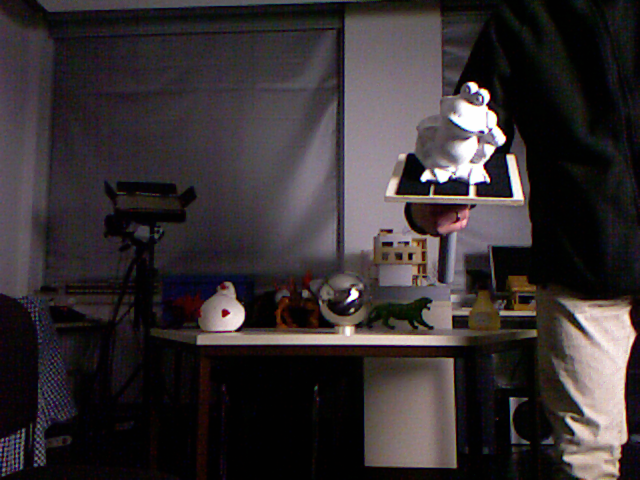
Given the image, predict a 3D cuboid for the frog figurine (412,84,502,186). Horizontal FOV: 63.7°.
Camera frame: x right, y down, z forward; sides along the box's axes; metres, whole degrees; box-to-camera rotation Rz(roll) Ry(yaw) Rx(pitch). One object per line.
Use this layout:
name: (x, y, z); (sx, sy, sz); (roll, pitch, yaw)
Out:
frog figurine: (0.219, -0.175, 0.825); (0.138, 0.156, 0.125); (12, 33, 24)
